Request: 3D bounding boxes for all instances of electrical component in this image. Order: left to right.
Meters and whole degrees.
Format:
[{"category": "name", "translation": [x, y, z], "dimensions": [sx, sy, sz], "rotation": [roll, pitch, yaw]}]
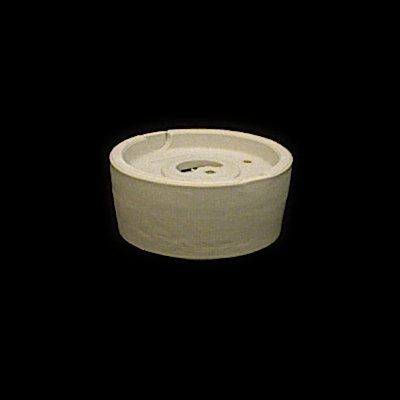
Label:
[{"category": "electrical component", "translation": [0.000, 0.000, 0.645], "dimensions": [0.108, 0.061, 0.106], "rotation": [1, 21, 0]}]
